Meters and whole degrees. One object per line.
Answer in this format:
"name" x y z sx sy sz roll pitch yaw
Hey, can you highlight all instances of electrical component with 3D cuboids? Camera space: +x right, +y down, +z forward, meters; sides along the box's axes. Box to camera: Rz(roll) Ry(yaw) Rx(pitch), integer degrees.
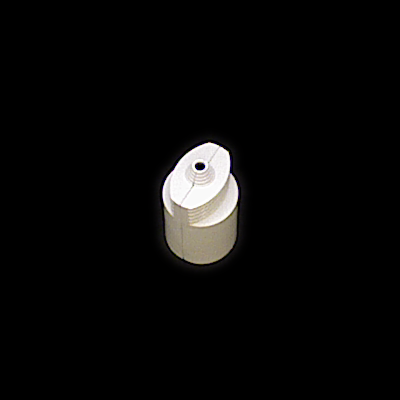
"electrical component" 0.000 0.000 0.617 0.043 0.043 0.081 0 -27 0
